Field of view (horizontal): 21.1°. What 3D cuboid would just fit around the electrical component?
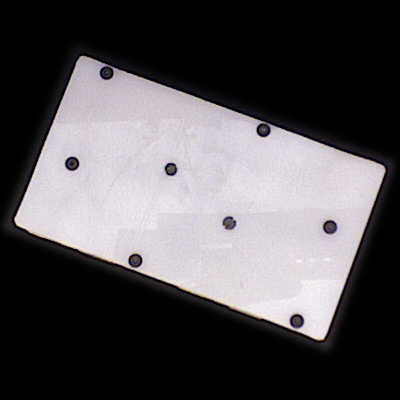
[{"bbox_3d":[0.000,0.000,0.626,0.186,0.106,0.060,20,-6,2],"label":"electrical component"}]
